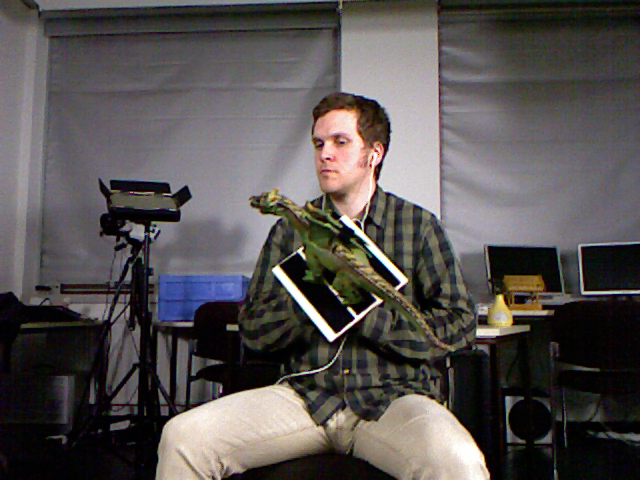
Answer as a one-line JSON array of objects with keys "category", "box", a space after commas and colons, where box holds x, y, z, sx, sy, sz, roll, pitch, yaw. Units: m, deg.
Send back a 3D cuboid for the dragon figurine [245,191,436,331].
[{"category": "dragon figurine", "box": [0.040, 0.027, 0.946, 0.414, 0.124, 0.239, 29, -16, 18]}]
